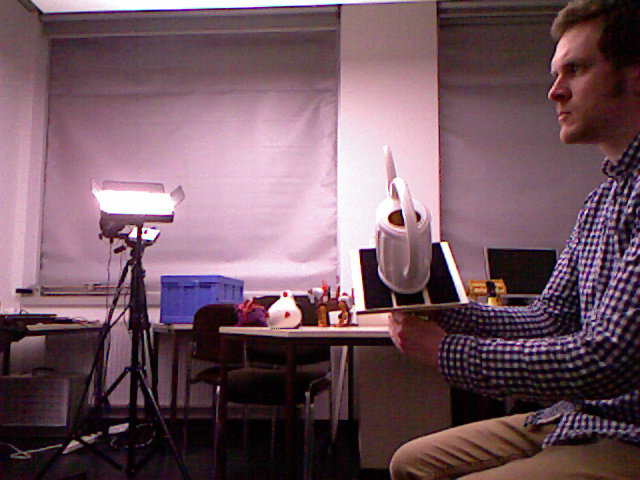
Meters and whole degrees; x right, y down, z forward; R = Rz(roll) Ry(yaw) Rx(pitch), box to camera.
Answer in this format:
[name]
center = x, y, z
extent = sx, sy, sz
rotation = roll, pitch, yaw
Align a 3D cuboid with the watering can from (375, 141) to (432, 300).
[watering can]
center = 0.155, -0.034, 1.003
extent = 0.104, 0.220, 0.357
rotation = -4, 36, 1
